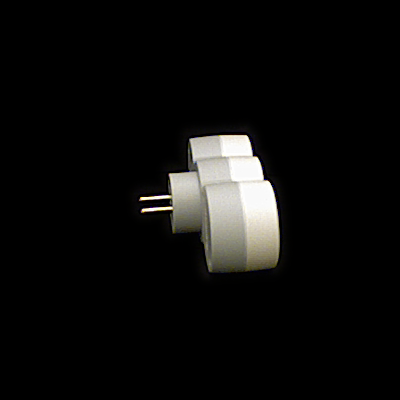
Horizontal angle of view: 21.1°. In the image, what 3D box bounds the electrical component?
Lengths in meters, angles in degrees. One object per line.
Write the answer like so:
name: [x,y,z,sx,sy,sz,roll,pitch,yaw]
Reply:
electrical component: [0.000,0.000,0.648,0.074,0.053,0.136,-3,22,-6]
